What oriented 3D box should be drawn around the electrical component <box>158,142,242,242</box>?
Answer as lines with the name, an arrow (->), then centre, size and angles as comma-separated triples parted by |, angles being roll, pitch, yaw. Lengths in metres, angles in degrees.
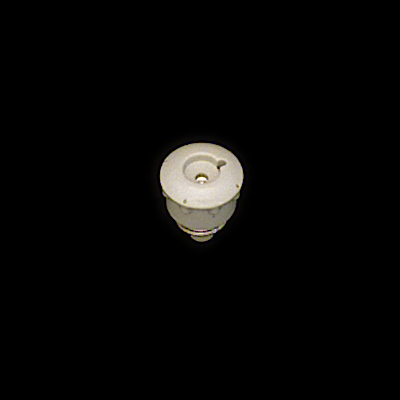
electrical component -> 0.000, 0.000, 0.636 | 0.048, 0.048, 0.062 | 0, -37, 0
